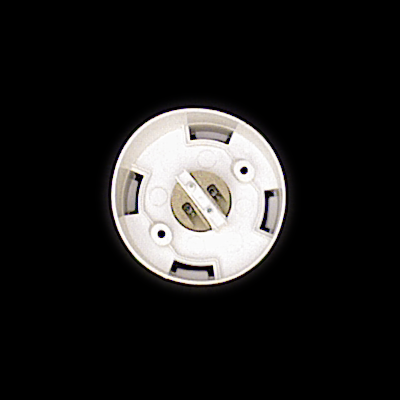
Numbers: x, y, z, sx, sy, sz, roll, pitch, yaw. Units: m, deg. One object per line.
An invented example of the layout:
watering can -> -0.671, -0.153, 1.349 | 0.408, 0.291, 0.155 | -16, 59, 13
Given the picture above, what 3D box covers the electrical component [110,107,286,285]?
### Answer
electrical component -> 0.000, 0.000, 0.624 | 0.099, 0.099, 0.064 | 0, -7, 1
